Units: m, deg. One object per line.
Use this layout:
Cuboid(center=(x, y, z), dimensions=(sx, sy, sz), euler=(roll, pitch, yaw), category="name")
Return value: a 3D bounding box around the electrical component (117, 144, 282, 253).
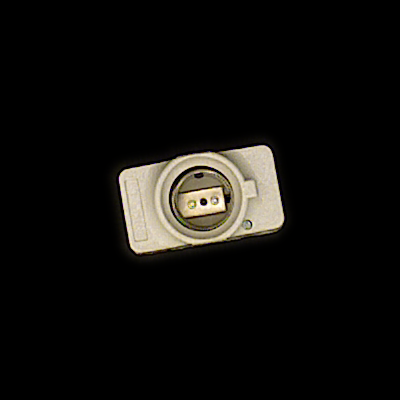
Cuboid(center=(0.000, 0.000, 0.637), dimensions=(0.090, 0.050, 0.055), euler=(-10, -5, 0), category="electrical component")
